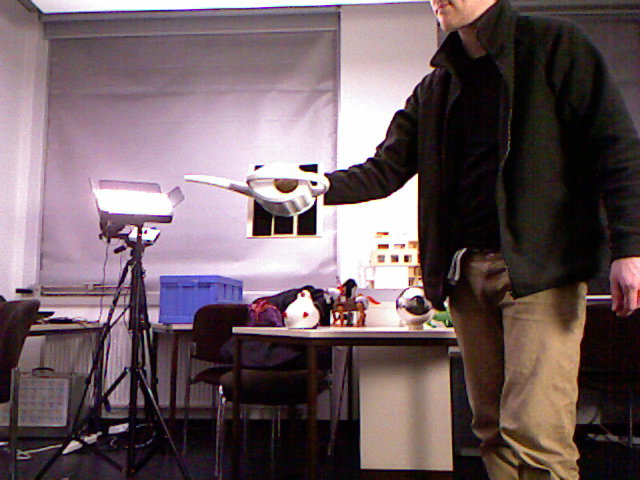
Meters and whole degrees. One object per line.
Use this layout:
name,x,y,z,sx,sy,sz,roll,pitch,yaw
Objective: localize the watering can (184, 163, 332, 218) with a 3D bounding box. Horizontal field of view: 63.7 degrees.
watering can,-0.140,-0.129,1.290,0.348,0.105,0.222,0,-15,5
